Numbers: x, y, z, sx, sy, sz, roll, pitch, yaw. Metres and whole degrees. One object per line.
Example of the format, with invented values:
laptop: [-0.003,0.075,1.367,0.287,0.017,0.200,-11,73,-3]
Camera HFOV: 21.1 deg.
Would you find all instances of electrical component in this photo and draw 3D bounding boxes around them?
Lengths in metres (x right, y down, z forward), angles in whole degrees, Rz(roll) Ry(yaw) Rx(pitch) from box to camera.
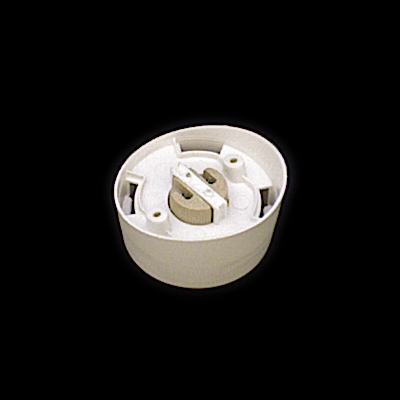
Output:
electrical component: [0.000,0.000,0.626,0.099,0.098,0.064,0,-37,-2]
